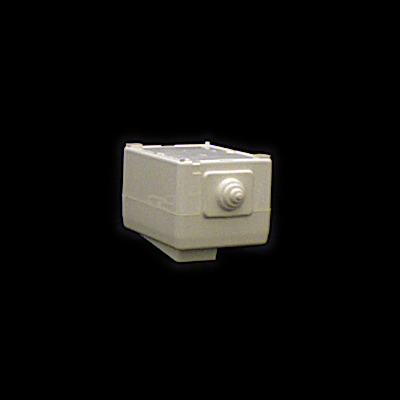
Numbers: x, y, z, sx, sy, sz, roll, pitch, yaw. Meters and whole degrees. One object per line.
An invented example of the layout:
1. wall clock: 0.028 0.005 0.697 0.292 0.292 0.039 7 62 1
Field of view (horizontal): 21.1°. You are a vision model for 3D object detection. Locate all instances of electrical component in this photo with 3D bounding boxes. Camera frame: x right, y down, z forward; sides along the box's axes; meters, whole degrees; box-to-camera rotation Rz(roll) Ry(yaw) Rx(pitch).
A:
1. electrical component: -0.001 0.000 0.639 0.061 0.061 0.096 -4 11 -28
